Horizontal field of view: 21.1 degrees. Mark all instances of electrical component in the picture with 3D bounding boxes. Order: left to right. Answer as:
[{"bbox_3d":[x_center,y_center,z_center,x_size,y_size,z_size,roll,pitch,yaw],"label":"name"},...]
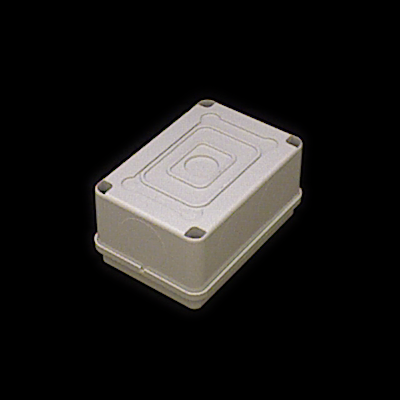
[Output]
[{"bbox_3d":[0.000,0.000,0.631,0.077,0.057,0.113,26,48,26],"label":"electrical component"}]
